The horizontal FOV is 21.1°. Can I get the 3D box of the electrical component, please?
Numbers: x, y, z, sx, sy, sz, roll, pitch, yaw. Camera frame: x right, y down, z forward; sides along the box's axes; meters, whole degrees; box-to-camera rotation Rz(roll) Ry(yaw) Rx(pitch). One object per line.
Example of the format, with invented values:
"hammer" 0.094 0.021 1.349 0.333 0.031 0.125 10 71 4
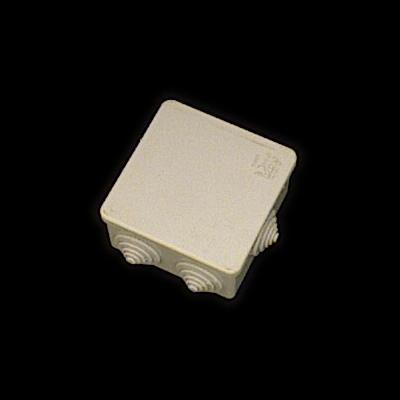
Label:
"electrical component" 0.000 0.000 0.640 0.099 0.100 0.048 24 -24 11
